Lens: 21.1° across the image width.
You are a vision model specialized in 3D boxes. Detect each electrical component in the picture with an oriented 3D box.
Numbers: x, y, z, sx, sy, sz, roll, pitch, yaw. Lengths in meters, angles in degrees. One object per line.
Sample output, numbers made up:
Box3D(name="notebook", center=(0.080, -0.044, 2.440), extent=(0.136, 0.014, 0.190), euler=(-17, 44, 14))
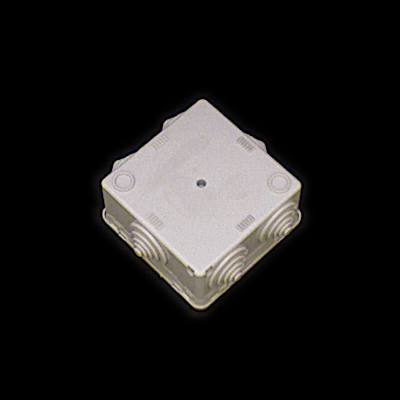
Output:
Box3D(name="electrical component", center=(0.000, 0.000, 0.631), extent=(0.100, 0.099, 0.048), euler=(-41, -20, -18))
